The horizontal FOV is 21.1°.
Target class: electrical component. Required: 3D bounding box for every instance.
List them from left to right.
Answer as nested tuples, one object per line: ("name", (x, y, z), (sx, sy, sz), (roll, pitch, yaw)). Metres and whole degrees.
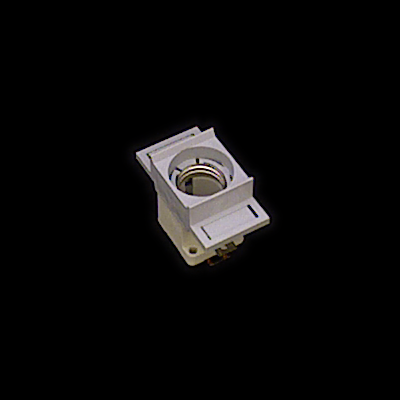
("electrical component", (0.000, 0.000, 0.625), (0.042, 0.080, 0.064), (-24, -34, -19))
